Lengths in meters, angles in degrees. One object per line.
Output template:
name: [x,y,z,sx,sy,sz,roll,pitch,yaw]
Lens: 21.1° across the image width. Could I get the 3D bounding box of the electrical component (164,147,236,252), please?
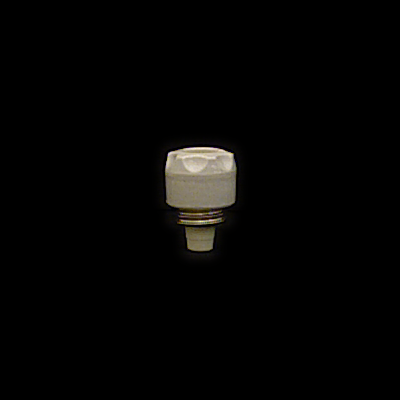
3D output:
electrical component: [0.000,0.000,0.650,0.043,0.062,0.043,0,12,0]
